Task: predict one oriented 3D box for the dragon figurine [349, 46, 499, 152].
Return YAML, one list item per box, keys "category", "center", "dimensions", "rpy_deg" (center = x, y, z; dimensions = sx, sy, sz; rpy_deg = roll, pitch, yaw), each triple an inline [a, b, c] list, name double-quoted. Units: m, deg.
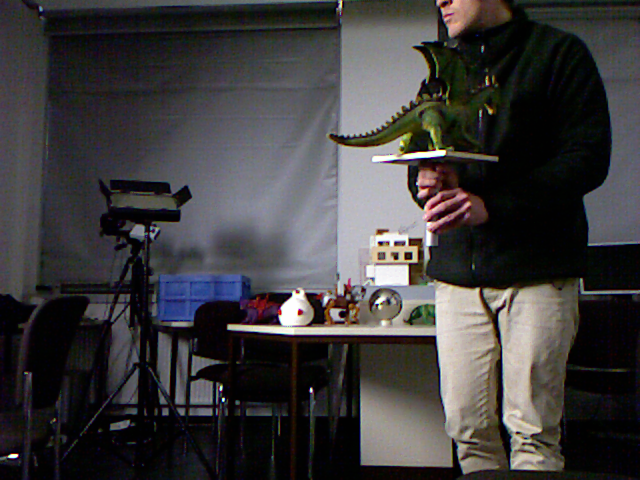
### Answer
- category: "dragon figurine"
  center: [0.261, -0.320, 1.185]
  dimensions: [0.412, 0.242, 0.123]
  rpy_deg: [-1, 10, -27]
